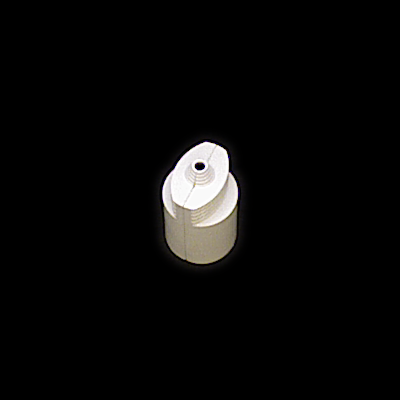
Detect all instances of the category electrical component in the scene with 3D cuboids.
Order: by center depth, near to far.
[{"bbox_3d":[0.000,0.000,0.618,0.043,0.043,0.081,0,-28,0],"label":"electrical component"}]
